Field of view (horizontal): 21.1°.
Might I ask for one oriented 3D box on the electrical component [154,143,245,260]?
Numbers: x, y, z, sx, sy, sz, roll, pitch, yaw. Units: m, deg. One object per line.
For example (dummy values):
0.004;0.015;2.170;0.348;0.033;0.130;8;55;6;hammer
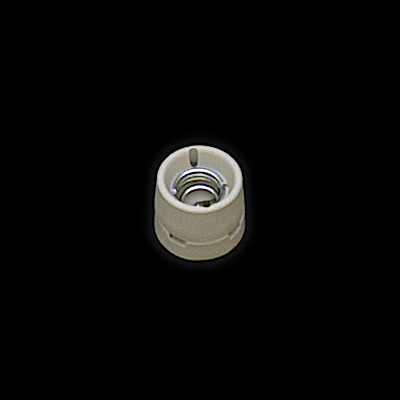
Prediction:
0.000;0.000;0.633;0.055;0.055;0.047;0;-36;0;electrical component
